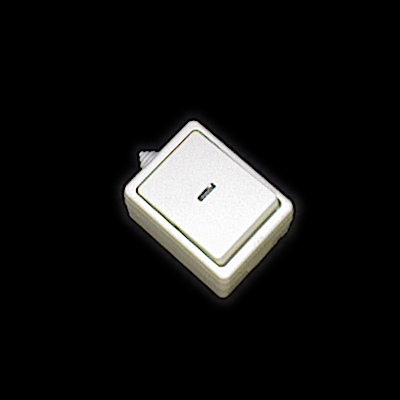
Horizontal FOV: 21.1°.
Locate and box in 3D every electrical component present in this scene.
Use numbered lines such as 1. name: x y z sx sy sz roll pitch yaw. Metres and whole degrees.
1. electrical component: 0.000 0.000 0.626 0.096 0.062 0.060 41 -13 11
